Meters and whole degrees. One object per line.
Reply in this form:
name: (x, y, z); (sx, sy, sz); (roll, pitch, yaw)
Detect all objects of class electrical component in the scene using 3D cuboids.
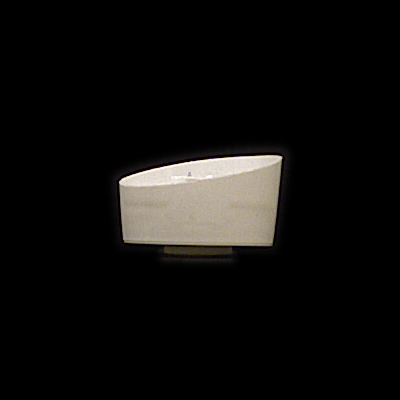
electrical component: (0.000, 0.000, 0.651); (0.099, 0.064, 0.099); (1, -1, 0)
